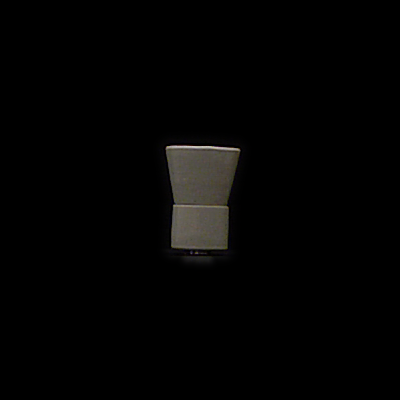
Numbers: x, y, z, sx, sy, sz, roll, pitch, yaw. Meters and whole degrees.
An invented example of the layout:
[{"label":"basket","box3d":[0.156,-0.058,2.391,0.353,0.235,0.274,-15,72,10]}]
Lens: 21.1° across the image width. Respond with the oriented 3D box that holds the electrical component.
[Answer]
[{"label":"electrical component","box3d":[0.000,0.000,0.649,0.044,0.065,0.044,2,2,0]}]
